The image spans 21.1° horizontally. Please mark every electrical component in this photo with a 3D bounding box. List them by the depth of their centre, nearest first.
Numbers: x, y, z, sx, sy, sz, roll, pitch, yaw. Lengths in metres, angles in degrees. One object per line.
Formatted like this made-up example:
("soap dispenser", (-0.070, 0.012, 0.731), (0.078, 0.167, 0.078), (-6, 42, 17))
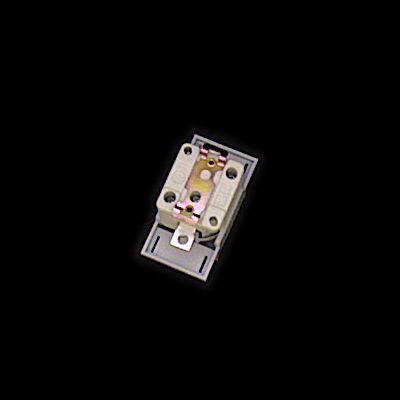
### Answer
("electrical component", (0.000, 0.000, 0.625), (0.042, 0.081, 0.063), (22, -15, 6))
